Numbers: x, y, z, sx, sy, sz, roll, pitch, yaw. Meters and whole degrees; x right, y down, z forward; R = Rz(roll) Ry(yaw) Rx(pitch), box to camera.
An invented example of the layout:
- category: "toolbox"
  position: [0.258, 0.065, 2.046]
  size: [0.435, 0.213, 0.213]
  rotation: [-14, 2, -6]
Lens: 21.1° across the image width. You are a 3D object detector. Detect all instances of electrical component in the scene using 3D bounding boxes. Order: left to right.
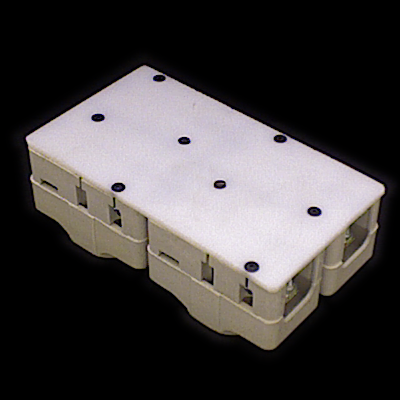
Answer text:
- category: "electrical component"
  position: [0.000, 0.000, 0.629]
  size: [0.185, 0.061, 0.105]
  rotation: [30, 49, 28]
